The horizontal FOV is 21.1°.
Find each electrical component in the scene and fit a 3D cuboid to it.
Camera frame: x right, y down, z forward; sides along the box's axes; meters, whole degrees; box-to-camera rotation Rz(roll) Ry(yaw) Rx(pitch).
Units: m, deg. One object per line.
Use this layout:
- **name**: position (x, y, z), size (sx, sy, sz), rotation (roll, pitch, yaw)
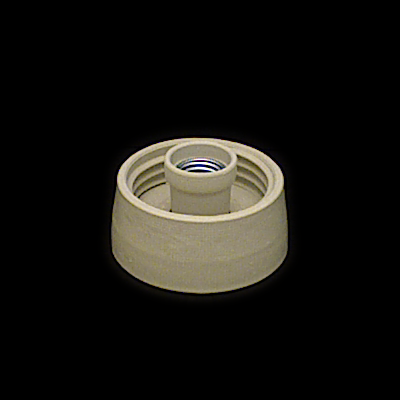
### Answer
- **electrical component**: position (0.000, 0.000, 0.642), size (0.108, 0.061, 0.106), rotation (1, 32, 0)
